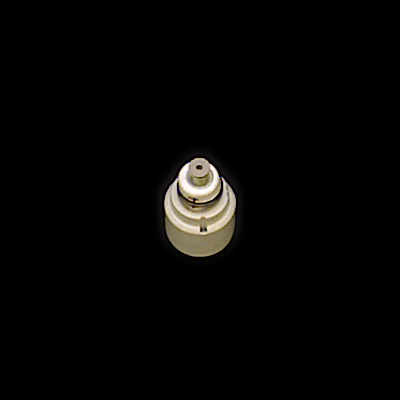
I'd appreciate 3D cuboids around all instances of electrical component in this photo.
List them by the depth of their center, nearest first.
[{"bbox_3d":[0.000,0.000,0.618,0.040,0.040,0.078,0,-28,1],"label":"electrical component"}]
